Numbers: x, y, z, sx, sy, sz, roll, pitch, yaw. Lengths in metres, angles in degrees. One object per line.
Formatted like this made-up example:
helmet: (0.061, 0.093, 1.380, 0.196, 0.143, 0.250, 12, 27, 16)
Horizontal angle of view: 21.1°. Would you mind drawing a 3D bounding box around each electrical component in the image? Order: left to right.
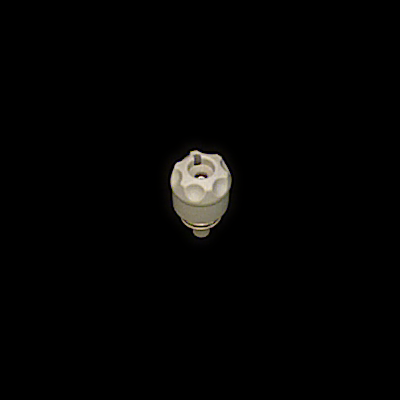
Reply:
electrical component: (0.000, 0.000, 0.637, 0.035, 0.035, 0.062, 0, -37, 0)
